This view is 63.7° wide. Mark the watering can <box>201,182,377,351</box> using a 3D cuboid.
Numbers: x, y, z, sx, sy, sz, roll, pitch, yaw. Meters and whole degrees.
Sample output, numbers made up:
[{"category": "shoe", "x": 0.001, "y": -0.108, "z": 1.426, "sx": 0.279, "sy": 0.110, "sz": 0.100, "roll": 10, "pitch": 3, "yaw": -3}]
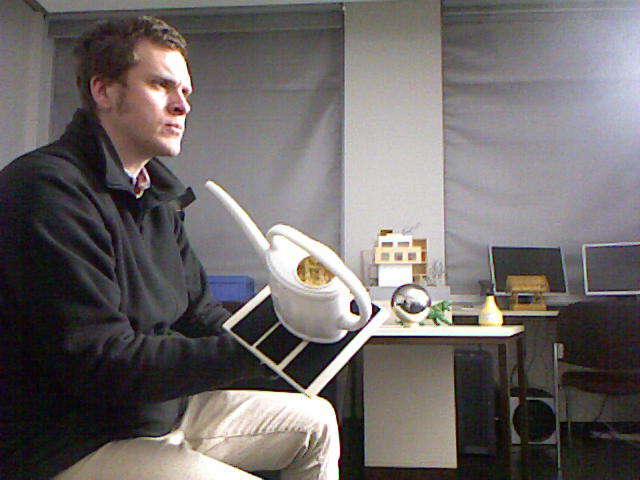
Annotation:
[{"category": "watering can", "x": -0.054, "y": 0.049, "z": 0.828, "sx": 0.352, "sy": 0.219, "sz": 0.106, "roll": 34, "pitch": 56, "yaw": 26}]
